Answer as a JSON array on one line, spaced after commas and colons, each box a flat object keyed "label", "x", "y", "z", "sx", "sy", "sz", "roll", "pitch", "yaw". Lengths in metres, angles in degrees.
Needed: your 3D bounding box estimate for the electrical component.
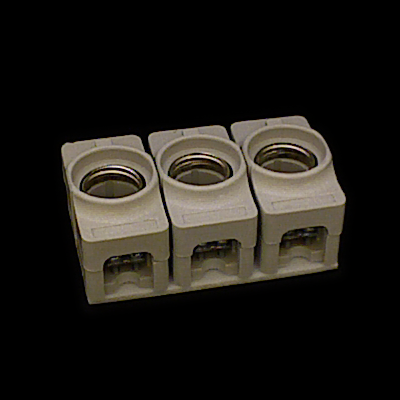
[{"label": "electrical component", "x": 0.000, "y": 0.000, "z": 0.637, "sx": 0.150, "sy": 0.063, "sz": 0.087, "roll": -8, "pitch": 42, "yaw": -10}]
